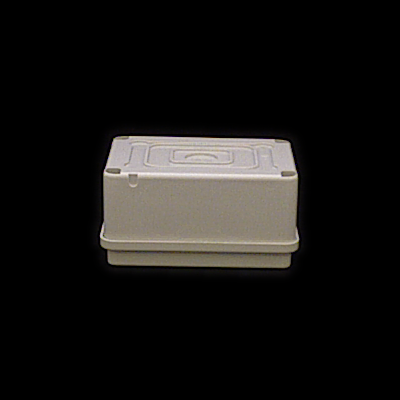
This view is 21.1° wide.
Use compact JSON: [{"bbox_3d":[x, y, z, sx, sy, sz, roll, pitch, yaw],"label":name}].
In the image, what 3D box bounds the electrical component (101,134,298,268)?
[{"bbox_3d":[0.000,0.000,0.639,0.113,0.058,0.077,2,21,0],"label":"electrical component"}]
